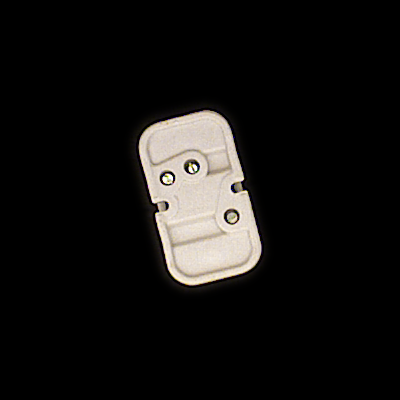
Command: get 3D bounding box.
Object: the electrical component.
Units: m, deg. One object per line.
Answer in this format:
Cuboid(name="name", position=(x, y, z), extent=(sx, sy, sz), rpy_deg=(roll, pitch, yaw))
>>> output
Cuboid(name="electrical component", position=(0.000, 0.000, 0.636), extent=(0.054, 0.095, 0.059), rpy_deg=(-14, -6, -1))
